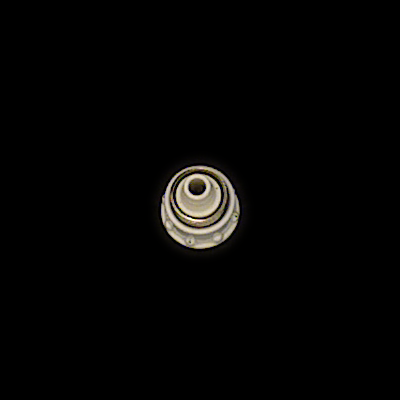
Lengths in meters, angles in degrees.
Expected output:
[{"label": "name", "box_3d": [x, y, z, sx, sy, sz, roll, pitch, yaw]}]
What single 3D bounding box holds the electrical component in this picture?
[{"label": "electrical component", "box_3d": [0.000, 0.000, 0.633, 0.048, 0.048, 0.061, 0, -15, 1]}]
